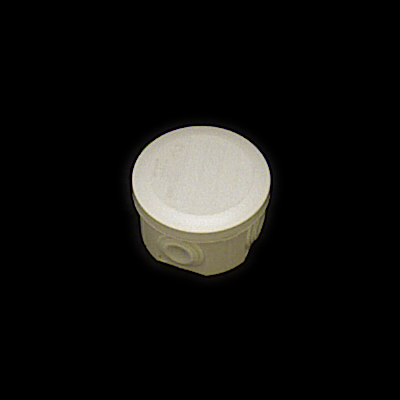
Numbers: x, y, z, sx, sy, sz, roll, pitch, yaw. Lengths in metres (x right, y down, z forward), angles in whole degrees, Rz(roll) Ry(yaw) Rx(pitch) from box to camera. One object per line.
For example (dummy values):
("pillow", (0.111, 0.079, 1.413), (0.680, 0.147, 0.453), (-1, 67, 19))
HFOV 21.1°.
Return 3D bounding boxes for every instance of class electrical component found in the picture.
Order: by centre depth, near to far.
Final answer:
("electrical component", (0.000, 0.000, 0.633), (0.080, 0.080, 0.051), (0, -38, -1))
